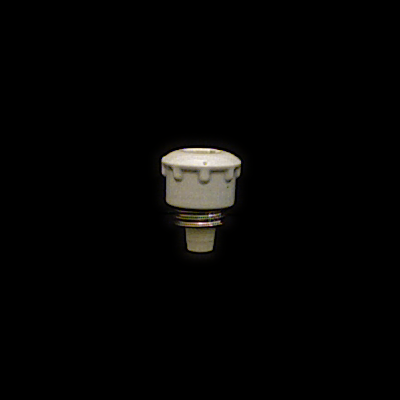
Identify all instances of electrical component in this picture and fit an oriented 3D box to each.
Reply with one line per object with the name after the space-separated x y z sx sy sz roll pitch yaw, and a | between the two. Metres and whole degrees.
0.000 0.000 0.653 0.048 0.062 0.048 1 11 0 | electrical component
